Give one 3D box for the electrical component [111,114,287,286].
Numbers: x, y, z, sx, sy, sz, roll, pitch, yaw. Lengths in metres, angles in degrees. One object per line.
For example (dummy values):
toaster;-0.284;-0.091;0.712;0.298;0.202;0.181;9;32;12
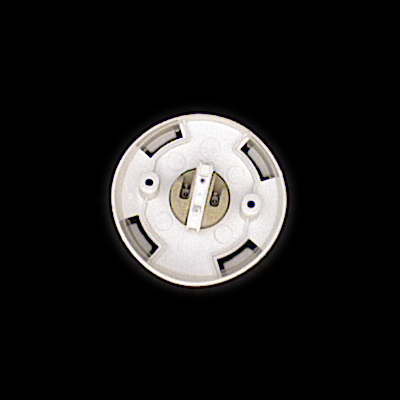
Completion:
electrical component;0.000;0.000;0.624;0.099;0.099;0.064;0;-6;0
